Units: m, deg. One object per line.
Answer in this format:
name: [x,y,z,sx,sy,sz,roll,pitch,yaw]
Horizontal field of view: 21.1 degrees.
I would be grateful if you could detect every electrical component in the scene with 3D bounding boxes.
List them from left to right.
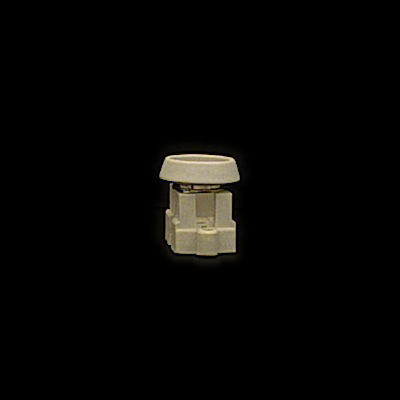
electrical component: [0.000,0.000,0.652,0.049,0.056,0.065,1,11,-12]
